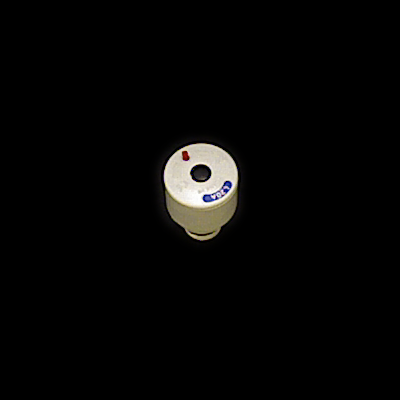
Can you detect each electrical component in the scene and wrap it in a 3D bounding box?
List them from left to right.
[{"bbox_3d":[0.000,0.000,0.619,0.040,0.040,0.078,0,-28,1],"label":"electrical component"}]
